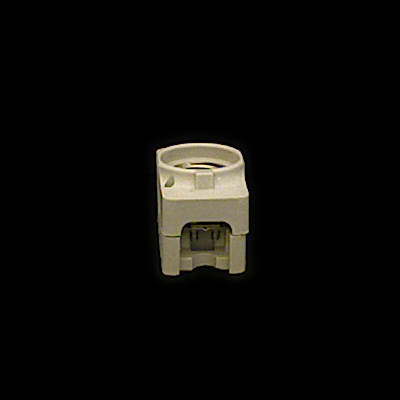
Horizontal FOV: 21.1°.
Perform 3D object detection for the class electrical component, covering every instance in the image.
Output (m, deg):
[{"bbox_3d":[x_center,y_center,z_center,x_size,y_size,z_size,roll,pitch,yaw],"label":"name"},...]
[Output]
[{"bbox_3d":[0.000,0.000,0.646,0.050,0.056,0.088,-1,22,-5],"label":"electrical component"}]
